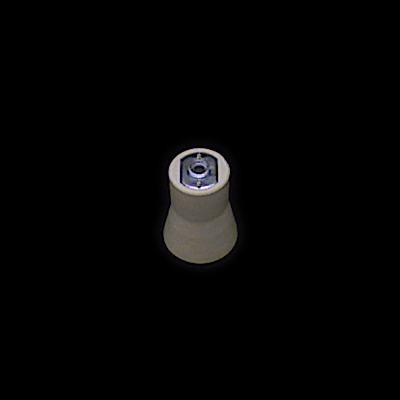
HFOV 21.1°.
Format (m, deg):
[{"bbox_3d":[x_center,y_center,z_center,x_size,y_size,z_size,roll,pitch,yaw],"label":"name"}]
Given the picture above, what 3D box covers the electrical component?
[{"bbox_3d":[0.000,0.000,0.627,0.044,0.044,0.065,0,-38,1],"label":"electrical component"}]
